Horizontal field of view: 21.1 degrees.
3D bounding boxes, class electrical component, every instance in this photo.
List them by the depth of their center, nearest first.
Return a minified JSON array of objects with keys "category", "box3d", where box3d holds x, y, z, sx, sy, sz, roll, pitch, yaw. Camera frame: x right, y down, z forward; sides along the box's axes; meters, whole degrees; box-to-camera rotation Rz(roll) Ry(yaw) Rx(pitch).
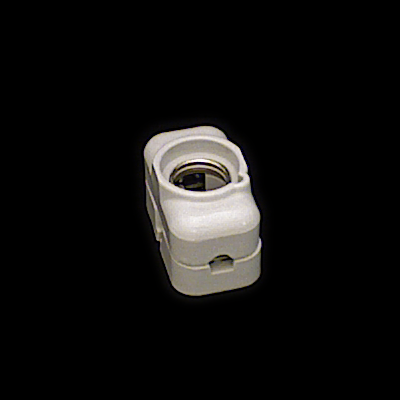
[{"category":"electrical component","box3d":[0.000,0.000,0.638,0.054,0.060,0.094,-10,44,-11]}]
